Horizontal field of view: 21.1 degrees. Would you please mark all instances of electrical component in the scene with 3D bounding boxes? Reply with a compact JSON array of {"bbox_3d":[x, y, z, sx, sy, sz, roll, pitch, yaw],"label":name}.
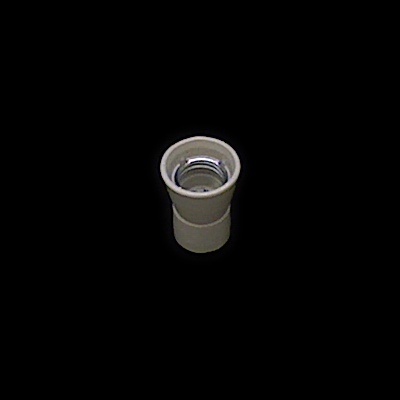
[{"bbox_3d":[0.000,0.000,0.627,0.044,0.044,0.065,0,-38,1],"label":"electrical component"}]
